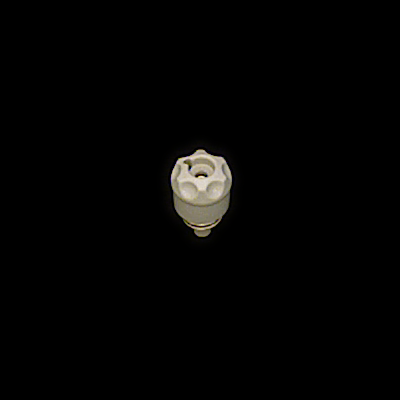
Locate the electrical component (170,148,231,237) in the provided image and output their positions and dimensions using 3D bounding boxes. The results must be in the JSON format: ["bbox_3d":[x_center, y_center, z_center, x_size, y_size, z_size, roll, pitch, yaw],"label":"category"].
[{"bbox_3d":[0.000,0.000,0.636,0.035,0.035,0.062,0,-37,0],"label":"electrical component"}]
